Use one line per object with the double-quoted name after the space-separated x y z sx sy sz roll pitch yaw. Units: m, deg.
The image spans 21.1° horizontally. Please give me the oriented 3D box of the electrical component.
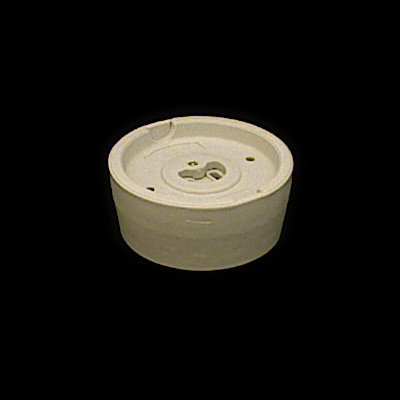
0.000 0.000 0.642 0.108 0.061 0.106 1 32 0 "electrical component"
